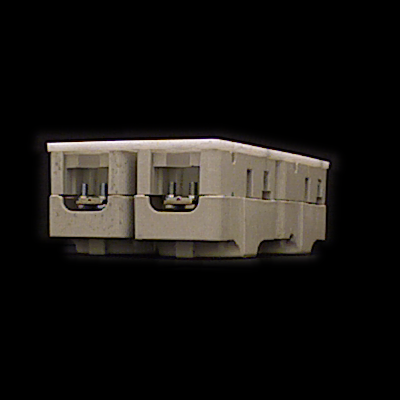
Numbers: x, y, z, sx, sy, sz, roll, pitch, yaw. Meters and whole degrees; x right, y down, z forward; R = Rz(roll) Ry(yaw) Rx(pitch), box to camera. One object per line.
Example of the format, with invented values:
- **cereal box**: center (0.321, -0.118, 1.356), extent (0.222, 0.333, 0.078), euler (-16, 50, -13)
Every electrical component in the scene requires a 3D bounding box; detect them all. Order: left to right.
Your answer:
- **electrical component**: center (0.000, 0.000, 0.649), extent (0.105, 0.060, 0.187), euler (1, -1, 25)
